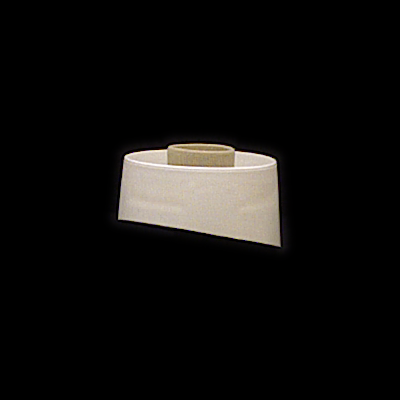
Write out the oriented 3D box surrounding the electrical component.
[{"bbox_3d":[0.000,0.000,0.643,0.099,0.064,0.098,1,10,0],"label":"electrical component"}]
